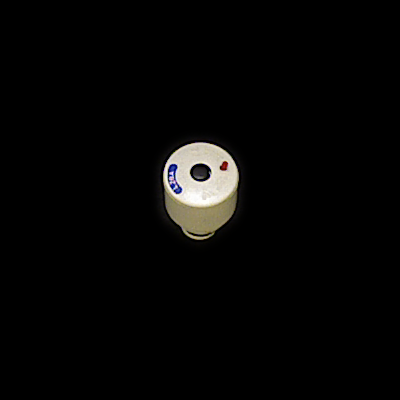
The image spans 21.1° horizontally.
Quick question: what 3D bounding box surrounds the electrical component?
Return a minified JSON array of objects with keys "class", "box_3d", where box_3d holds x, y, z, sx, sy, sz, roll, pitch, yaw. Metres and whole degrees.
[{"class":"electrical component","box_3d":[0.000,0.000,0.618,0.040,0.040,0.078,0,-28,-1]}]
